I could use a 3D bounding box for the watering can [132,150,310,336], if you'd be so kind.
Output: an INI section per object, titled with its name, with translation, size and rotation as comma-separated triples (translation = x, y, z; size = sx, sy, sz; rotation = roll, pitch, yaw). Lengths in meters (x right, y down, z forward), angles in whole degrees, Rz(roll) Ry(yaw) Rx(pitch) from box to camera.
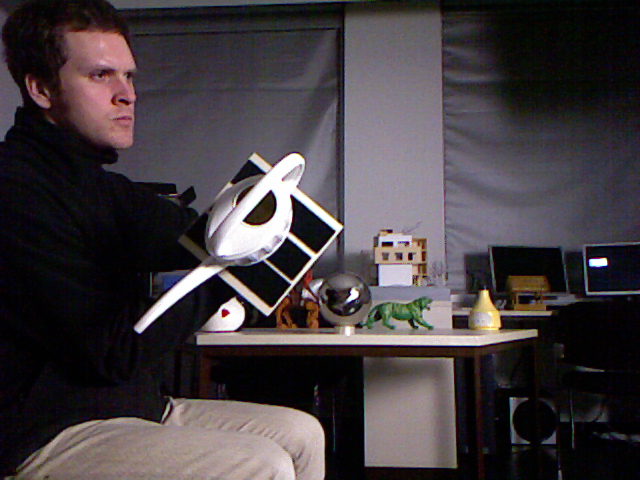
[watering can]
translation = -0.136, 0.001, 0.799
size = 0.105, 0.350, 0.224
rotation = 42, -4, 6
